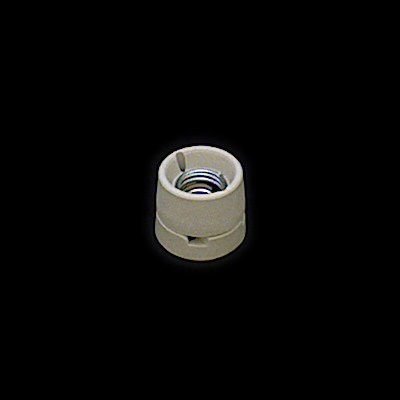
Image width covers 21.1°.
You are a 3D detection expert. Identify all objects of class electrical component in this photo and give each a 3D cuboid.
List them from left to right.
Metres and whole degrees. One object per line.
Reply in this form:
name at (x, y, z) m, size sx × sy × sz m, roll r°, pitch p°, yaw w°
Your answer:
electrical component at (0.000, 0.000, 0.637) m, size 0.055 × 0.047 × 0.055 m, roll 0°, pitch 41°, yaw 0°
